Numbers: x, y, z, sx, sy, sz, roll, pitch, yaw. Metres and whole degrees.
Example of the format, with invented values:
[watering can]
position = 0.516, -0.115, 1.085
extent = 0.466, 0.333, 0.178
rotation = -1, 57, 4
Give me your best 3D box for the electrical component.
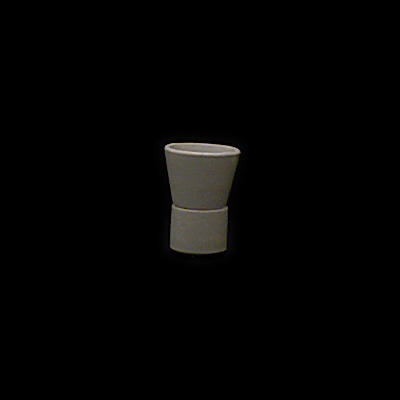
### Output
[electrical component]
position = 0.000, 0.000, 0.644
extent = 0.044, 0.066, 0.044
rotation = 2, 11, 0
